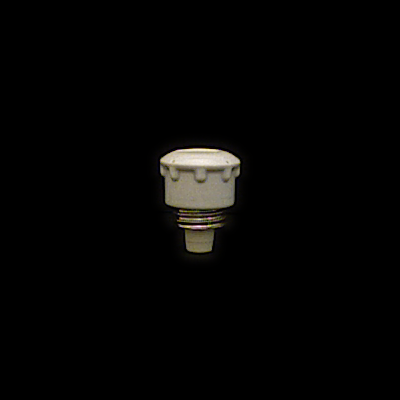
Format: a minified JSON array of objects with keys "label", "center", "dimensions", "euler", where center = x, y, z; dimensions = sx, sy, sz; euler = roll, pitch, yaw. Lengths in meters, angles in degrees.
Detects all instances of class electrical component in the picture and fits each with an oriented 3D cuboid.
[{"label":"electrical component","center":[0.000,0.000,0.648],"dimensions":[0.048,0.062,0.048],"euler":[1,11,0]}]
